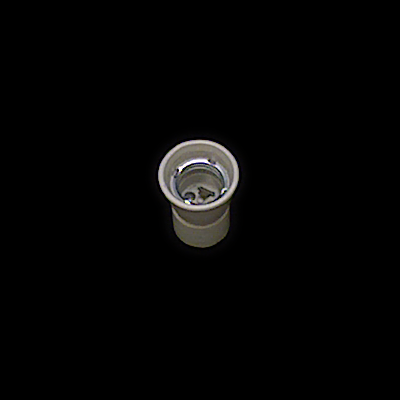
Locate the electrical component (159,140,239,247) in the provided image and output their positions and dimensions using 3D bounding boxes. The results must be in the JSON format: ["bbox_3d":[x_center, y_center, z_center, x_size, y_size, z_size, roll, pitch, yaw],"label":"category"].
[{"bbox_3d":[0.000,0.000,0.625,0.044,0.044,0.065,0,-27,1],"label":"electrical component"}]
